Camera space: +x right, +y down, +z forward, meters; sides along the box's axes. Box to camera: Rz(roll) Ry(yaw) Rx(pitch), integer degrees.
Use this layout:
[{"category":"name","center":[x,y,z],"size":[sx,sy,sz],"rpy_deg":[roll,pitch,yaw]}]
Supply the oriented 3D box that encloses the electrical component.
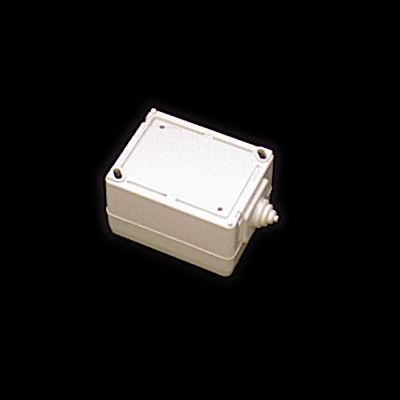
[{"category":"electrical component","center":[0.000,0.000,0.627],"size":[0.096,0.062,0.061],"rpy_deg":[21,-35,14]}]
